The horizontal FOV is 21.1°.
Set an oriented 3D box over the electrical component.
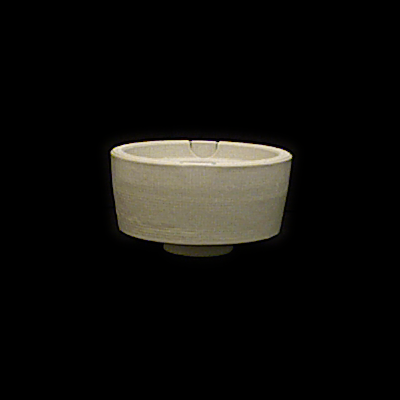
[{"bbox_3d":[0.000,0.000,0.647,0.108,0.061,0.107,1,11,0],"label":"electrical component"}]
